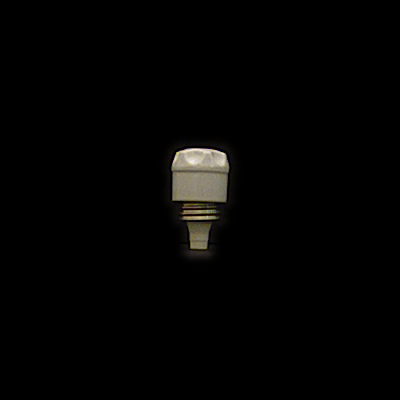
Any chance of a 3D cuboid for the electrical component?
[{"bbox_3d":[0.000,0.000,0.659,0.035,0.061,0.035,1,1,0],"label":"electrical component"}]
